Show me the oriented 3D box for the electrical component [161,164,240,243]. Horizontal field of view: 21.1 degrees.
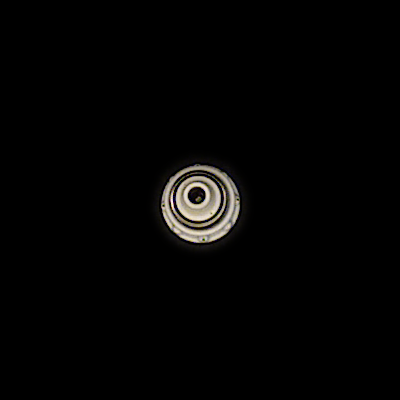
[{"bbox_3d":[0.000,0.000,0.635,0.048,0.048,0.062,0,-6,1],"label":"electrical component"}]
